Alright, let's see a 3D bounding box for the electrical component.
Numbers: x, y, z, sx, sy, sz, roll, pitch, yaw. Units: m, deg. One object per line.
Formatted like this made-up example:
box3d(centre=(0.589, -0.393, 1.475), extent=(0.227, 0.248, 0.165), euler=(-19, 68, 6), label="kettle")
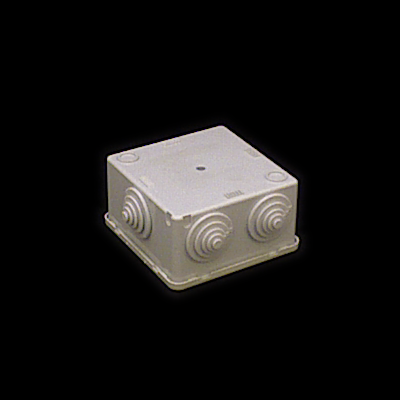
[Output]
box3d(centre=(0.000, 0.000, 0.636), extent=(0.100, 0.049, 0.098), euler=(-17, 36, -27), label="electrical component")
